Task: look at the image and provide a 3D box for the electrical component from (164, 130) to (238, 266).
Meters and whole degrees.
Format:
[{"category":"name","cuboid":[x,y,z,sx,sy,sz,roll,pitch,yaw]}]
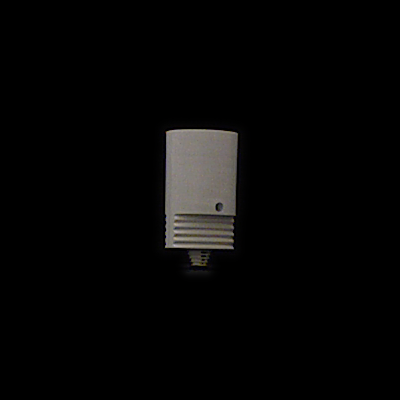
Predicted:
[{"category":"electrical component","cuboid":[0.000,0.000,0.652,0.043,0.081,0.043,2,1,0]}]
